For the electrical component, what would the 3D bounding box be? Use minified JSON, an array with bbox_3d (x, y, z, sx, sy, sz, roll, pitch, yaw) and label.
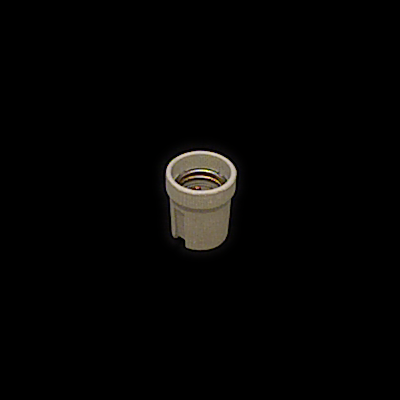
[{"bbox_3d":[0.000,0.000,0.634,0.040,0.047,0.039,1,42,0],"label":"electrical component"}]
